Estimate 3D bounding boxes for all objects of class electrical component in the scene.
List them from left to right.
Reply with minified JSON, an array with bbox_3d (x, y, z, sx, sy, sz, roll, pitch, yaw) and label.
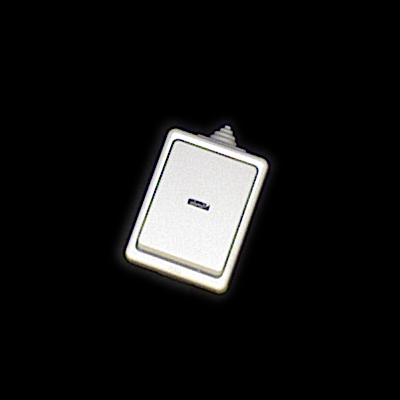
[{"bbox_3d":[0.000,0.000,0.627,0.062,0.096,0.061,19,-6,3],"label":"electrical component"}]
